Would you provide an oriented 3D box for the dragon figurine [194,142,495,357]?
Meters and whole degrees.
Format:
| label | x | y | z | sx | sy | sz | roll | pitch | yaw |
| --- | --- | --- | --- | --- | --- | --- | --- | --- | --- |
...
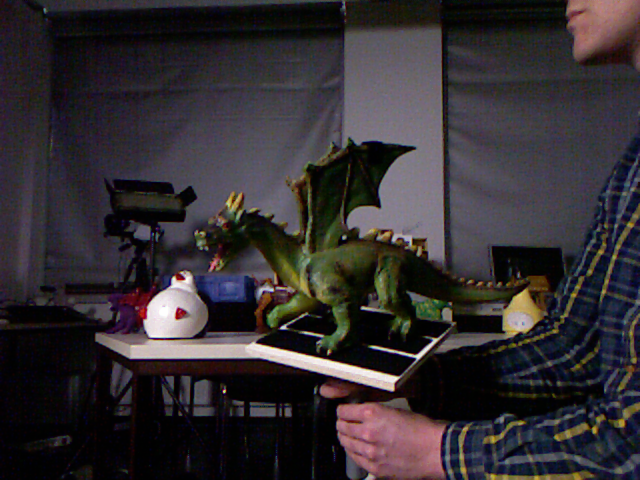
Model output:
| label | x | y | z | sx | sy | sz | roll | pitch | yaw |
| --- | --- | --- | --- | --- | --- | --- | --- | --- | --- |
| dragon figurine | 0.052 | 0.000 | 0.642 | 0.412 | 0.240 | 0.123 | -9 | 19 | -21 |
